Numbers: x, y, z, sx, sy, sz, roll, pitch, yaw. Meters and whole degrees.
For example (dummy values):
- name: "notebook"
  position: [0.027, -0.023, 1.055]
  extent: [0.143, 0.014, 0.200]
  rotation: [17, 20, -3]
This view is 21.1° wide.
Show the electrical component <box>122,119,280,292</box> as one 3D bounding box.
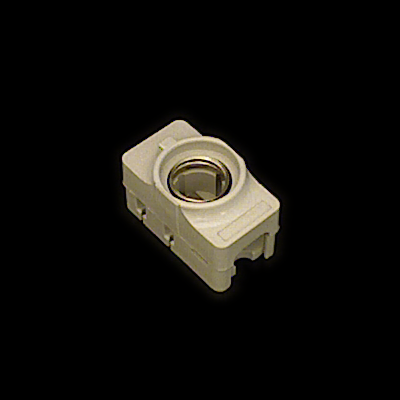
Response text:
- name: "electrical component"
  position: [0.000, 0.000, 0.637]
  extent: [0.050, 0.056, 0.089]
  rotation: [-36, 62, -24]
